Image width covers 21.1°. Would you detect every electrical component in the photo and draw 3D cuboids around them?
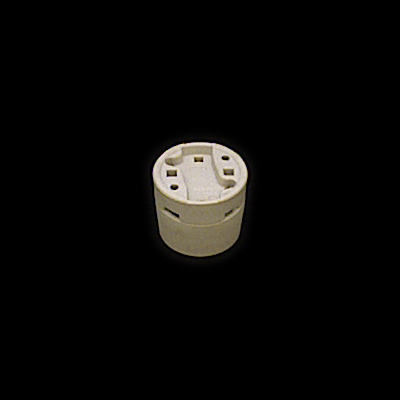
[{"bbox_3d":[0.000,0.000,0.635,0.055,0.047,0.055,0,42,0],"label":"electrical component"}]
